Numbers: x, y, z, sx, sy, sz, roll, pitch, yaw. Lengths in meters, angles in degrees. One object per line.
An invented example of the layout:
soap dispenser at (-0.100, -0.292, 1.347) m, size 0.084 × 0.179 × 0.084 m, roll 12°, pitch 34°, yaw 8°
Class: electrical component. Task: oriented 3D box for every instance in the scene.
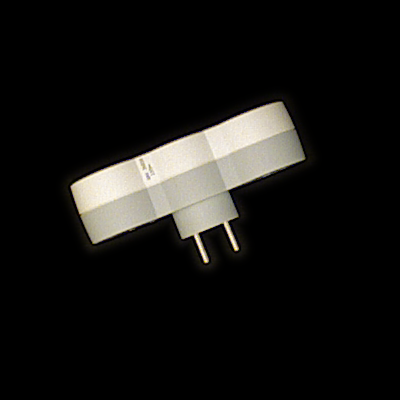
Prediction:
electrical component at (0.000, 0.000, 0.639) m, size 0.138 × 0.074 × 0.052 m, roll -22°, pitch -4°, yaw -2°
